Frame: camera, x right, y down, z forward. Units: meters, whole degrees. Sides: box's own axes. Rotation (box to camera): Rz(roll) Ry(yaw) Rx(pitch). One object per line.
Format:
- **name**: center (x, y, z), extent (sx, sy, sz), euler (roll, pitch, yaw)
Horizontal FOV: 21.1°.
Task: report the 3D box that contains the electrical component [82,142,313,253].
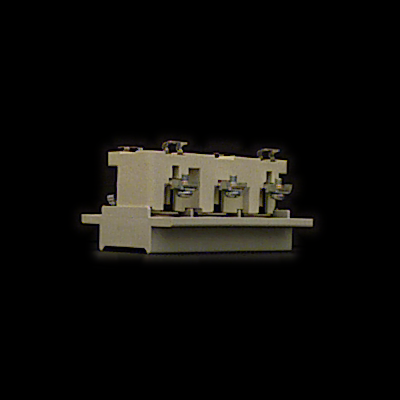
- **electrical component**: center (0.000, 0.000, 0.658), extent (0.078, 0.063, 0.123), euler (1, 0, 45)
